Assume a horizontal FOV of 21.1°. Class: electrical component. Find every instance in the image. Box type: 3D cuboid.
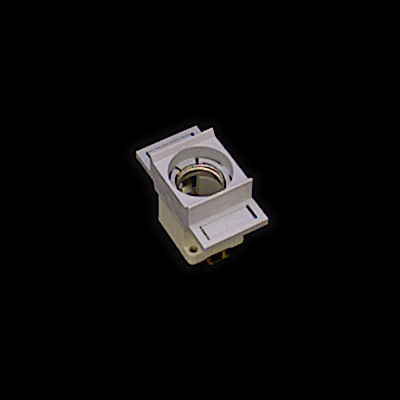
[{"bbox_3d":[0.000,0.000,0.627,0.042,0.080,0.064,-25,-33,-17],"label":"electrical component"}]
